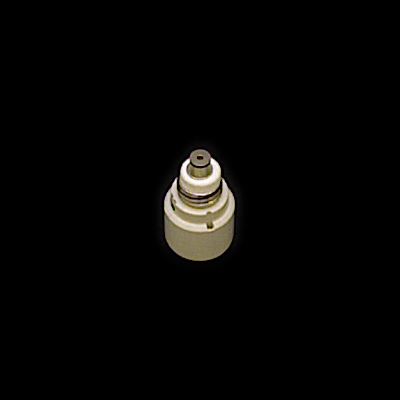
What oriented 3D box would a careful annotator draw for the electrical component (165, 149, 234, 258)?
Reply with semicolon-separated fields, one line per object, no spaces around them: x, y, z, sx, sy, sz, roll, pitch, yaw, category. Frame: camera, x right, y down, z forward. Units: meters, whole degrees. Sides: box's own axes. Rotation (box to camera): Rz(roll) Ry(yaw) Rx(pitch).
0.000;0.000;0.622;0.040;0.040;0.079;0;-37;-1;electrical component
